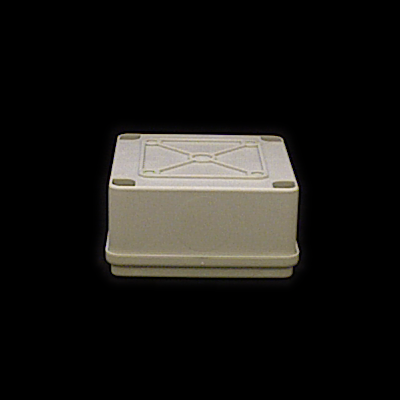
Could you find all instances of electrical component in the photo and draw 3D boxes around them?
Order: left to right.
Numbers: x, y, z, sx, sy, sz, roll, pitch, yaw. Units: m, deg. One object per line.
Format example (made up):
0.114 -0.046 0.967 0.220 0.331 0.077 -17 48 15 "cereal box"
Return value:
0.000 0.000 0.642 0.109 0.057 0.107 1 20 -2 "electrical component"
